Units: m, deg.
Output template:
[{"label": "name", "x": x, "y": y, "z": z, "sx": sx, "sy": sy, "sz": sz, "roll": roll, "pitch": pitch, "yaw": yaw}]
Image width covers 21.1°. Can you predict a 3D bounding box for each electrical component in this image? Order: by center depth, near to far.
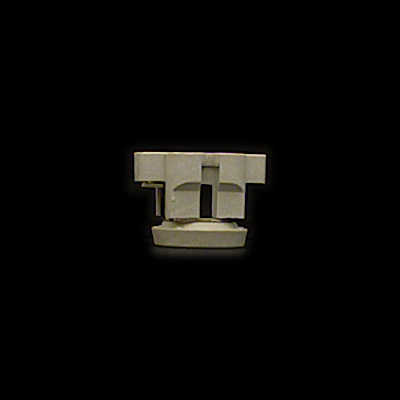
[{"label": "electrical component", "x": 0.000, "y": 0.000, "z": 0.655, "sx": 0.079, "sy": 0.057, "sz": 0.057, "roll": 0, "pitch": 2, "yaw": -15}]
